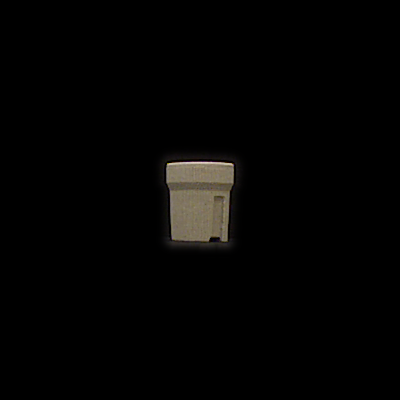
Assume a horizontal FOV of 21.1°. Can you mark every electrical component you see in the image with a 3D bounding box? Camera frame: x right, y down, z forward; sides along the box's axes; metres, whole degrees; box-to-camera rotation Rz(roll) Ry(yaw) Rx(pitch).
[{"bbox_3d":[0.000,0.001,0.651,0.040,0.046,0.040,1,1,1],"label":"electrical component"}]
